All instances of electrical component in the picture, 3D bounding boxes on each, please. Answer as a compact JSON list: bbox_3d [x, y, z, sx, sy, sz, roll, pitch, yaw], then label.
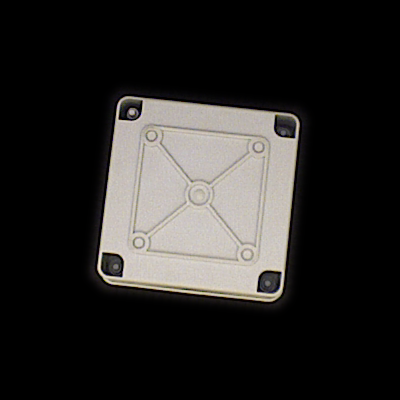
[{"bbox_3d":[0.000,0.000,0.629,0.109,0.109,0.056,6,-7,1],"label":"electrical component"}]
